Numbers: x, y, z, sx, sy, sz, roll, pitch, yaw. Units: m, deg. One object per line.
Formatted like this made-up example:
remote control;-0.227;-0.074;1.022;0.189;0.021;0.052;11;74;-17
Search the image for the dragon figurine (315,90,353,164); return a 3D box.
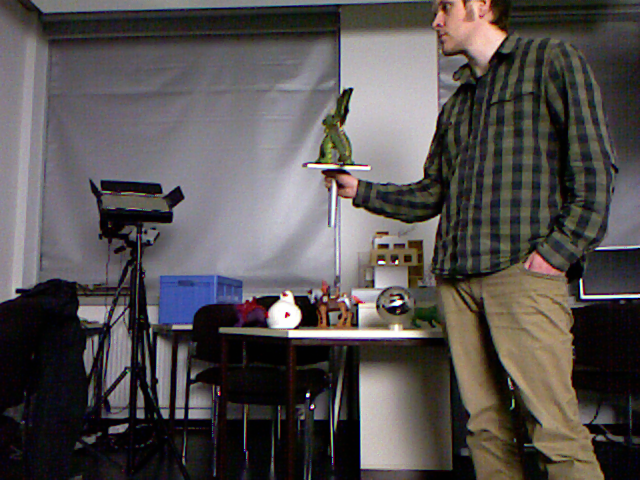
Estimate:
dragon figurine;0.062;-0.375;1.704;0.122;0.242;0.414;2;9;-14
